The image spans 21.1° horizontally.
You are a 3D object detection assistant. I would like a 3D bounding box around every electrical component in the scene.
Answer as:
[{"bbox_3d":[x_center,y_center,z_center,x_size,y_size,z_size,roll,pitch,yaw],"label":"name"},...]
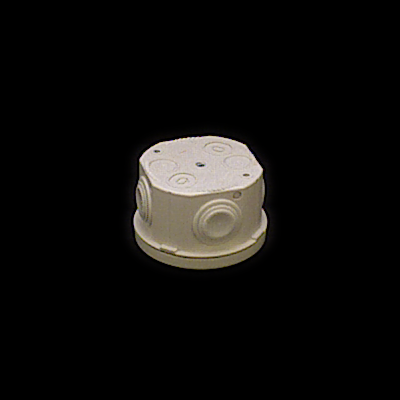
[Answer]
[{"bbox_3d":[0.000,0.000,0.637,0.080,0.051,0.079,0,31,0],"label":"electrical component"}]
